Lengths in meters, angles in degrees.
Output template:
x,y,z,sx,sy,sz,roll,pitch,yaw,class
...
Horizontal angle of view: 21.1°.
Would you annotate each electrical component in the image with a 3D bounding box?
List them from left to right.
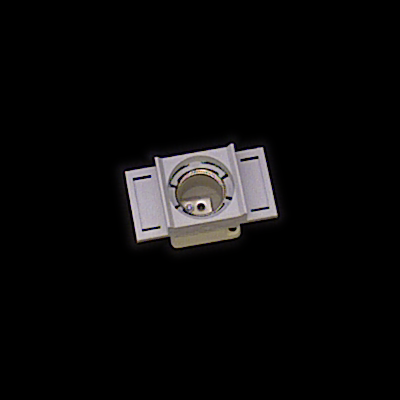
x,y,z,sx,sy,sz,roll,pitch,yaw,class
0.000,0.000,0.623,0.081,0.042,0.063,-10,-15,-3,electrical component
